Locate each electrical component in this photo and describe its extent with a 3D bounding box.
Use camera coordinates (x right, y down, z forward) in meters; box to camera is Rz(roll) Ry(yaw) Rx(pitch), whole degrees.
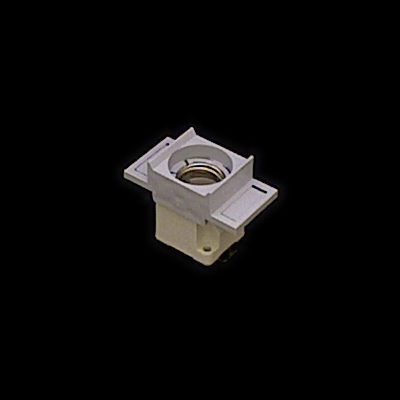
[{"bbox_3d":[0.000,0.000,0.630,0.080,0.064,0.042,27,49,26],"label":"electrical component"}]
